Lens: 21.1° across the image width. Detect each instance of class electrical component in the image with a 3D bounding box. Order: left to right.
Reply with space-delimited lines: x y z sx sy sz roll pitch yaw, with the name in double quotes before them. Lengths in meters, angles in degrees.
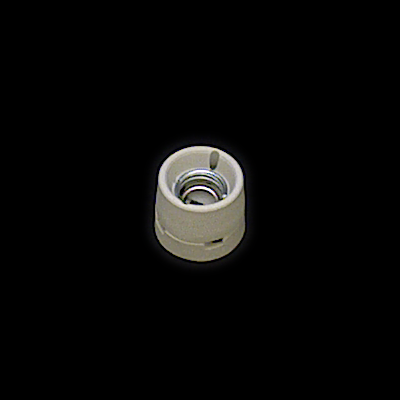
"electrical component" 0.000 0.000 0.635 0.055 0.055 0.047 0 -38 -1
